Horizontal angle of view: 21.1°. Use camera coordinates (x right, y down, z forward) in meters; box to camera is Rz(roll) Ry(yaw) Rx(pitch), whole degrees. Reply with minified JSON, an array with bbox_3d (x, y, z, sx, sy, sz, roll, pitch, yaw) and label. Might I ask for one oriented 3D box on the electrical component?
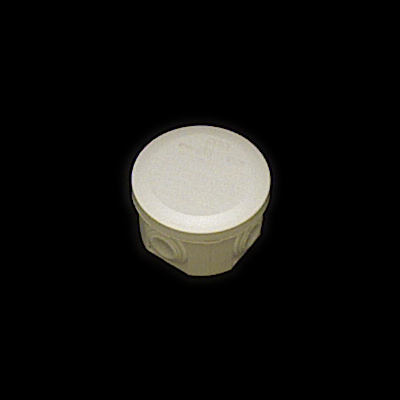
[{"bbox_3d":[0.000,0.000,0.631,0.080,0.080,0.051,0,-38,0],"label":"electrical component"}]
